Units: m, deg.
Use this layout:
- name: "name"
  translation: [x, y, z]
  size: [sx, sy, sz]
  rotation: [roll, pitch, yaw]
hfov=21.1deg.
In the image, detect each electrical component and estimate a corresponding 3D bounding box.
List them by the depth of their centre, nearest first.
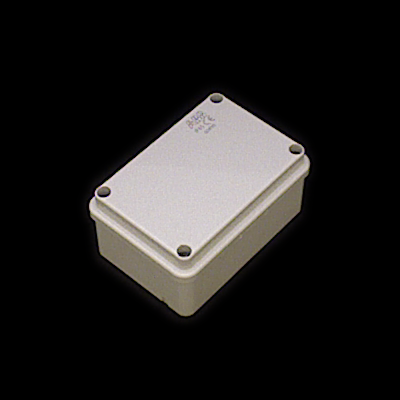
- name: "electrical component"
  translation: [0.000, 0.000, 0.629]
  size: [0.078, 0.057, 0.113]
  rotation: [35, 60, 24]
